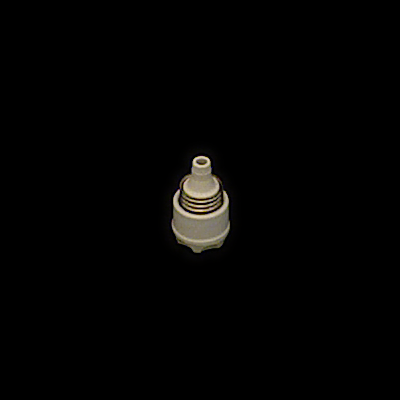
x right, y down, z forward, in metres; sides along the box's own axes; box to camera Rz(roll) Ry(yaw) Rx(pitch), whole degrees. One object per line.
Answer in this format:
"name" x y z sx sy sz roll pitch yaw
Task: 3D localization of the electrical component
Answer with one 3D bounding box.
"electrical component" 0.000 0.000 0.642 0.035 0.062 0.035 1 41 0
